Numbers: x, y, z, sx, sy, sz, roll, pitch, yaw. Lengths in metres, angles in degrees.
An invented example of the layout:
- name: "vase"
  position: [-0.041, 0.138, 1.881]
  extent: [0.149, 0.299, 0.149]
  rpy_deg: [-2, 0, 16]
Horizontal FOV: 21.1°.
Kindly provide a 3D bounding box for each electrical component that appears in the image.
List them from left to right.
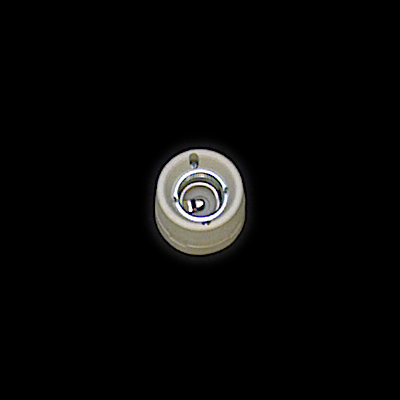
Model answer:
- name: "electrical component"
  position: [0.000, 0.000, 0.633]
  extent: [0.055, 0.056, 0.047]
  rpy_deg: [0, -18, 0]
